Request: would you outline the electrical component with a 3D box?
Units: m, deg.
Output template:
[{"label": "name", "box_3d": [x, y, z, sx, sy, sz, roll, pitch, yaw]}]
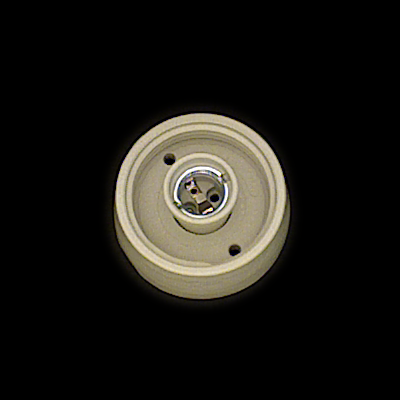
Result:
[{"label": "electrical component", "box_3d": [0.000, 0.000, 0.633, 0.108, 0.108, 0.060, 0, -16, 0]}]
